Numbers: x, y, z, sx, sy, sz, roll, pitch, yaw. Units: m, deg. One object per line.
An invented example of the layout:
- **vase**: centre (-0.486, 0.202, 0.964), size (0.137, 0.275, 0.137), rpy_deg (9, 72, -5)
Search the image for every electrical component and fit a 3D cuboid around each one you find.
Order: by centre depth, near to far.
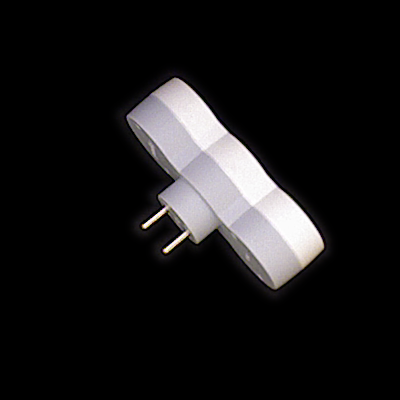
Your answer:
- **electrical component**: centre (0.000, 0.000, 0.630), size (0.074, 0.138, 0.052), rpy_deg (-40, -12, -9)
